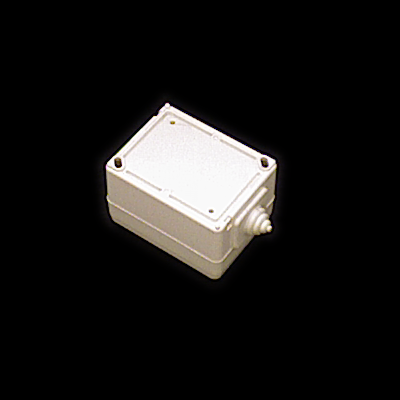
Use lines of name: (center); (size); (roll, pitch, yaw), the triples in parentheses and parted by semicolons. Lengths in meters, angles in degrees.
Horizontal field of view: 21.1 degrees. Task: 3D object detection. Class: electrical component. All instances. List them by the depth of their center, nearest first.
electrical component: (0.000, 0.000, 0.627); (0.096, 0.062, 0.061); (29, -32, 20)
